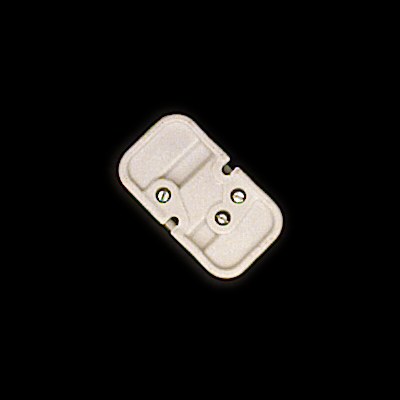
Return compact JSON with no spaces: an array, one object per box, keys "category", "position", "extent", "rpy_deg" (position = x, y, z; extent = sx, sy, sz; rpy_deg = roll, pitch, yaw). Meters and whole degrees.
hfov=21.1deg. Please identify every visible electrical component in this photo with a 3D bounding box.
[{"category":"electrical component","position":[0.000,0.000,0.637],"extent":[0.054,0.095,0.059],"rpy_deg":[-45,-5,-3]}]
